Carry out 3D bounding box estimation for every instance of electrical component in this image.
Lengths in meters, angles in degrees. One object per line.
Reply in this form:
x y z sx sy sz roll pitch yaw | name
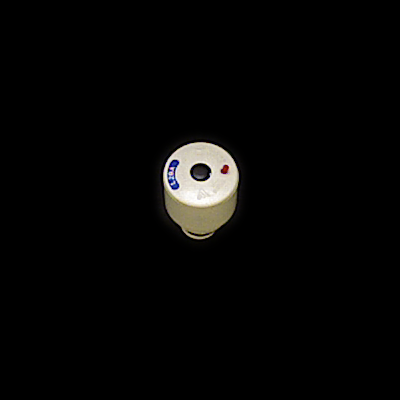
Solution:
0.000 0.000 0.617 0.040 0.040 0.078 0 -27 -1 | electrical component
